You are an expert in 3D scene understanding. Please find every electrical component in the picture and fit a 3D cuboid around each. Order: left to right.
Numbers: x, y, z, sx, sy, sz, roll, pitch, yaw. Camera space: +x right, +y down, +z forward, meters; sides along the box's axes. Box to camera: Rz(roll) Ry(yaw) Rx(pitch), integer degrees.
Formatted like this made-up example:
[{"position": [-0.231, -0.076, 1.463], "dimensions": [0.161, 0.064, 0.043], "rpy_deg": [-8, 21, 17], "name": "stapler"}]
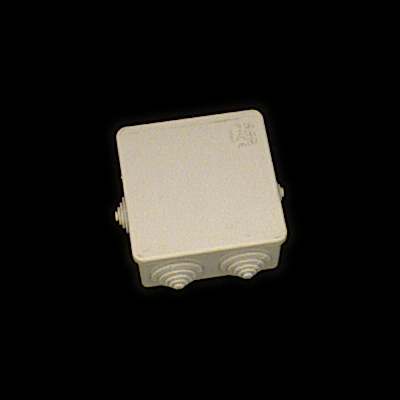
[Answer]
[{"position": [0.000, 0.000, 0.640], "dimensions": [0.100, 0.099, 0.048], "rpy_deg": [-8, -26, -4], "name": "electrical component"}]
